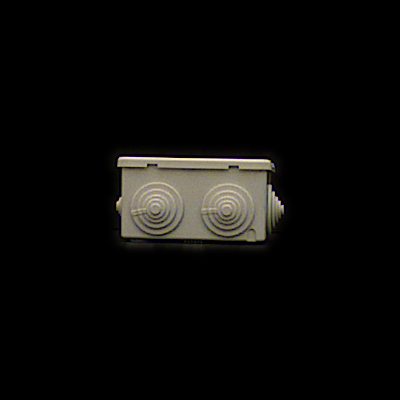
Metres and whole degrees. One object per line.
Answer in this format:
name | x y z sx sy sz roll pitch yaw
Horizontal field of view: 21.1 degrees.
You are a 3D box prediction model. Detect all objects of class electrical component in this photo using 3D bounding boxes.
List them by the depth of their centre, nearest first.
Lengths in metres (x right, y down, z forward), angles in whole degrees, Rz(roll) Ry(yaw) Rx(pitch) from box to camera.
electrical component | 0.000 0.000 0.655 0.099 0.048 0.100 1 1 5
